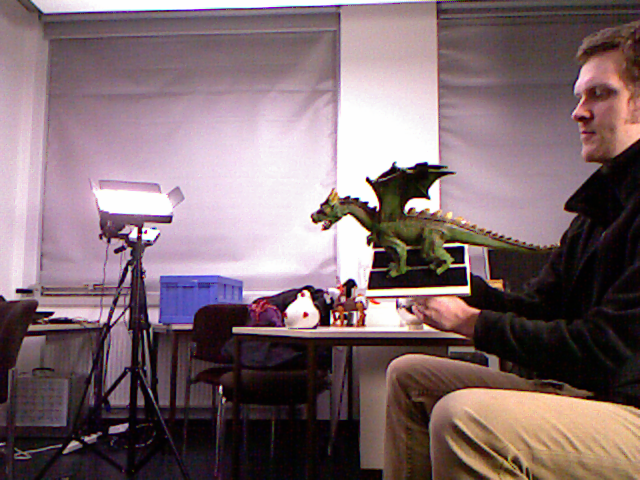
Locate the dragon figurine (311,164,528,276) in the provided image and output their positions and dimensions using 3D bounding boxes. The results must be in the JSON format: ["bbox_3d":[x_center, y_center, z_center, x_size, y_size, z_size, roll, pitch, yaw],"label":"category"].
[{"bbox_3d":[0.189,-0.047,0.993,0.411,0.125,0.238,-5,-39,12],"label":"dragon figurine"}]
